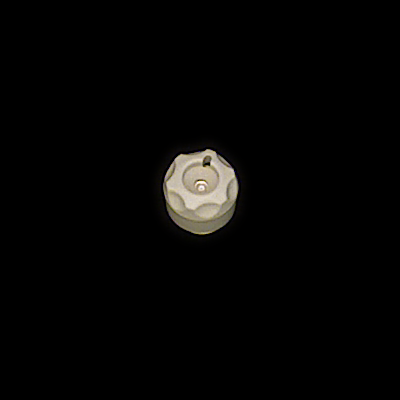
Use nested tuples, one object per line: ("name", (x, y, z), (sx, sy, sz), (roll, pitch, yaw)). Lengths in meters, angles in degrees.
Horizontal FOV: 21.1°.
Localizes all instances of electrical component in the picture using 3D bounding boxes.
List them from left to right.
("electrical component", (0.000, 0.000, 0.633), (0.043, 0.043, 0.062), (0, -26, 0))
